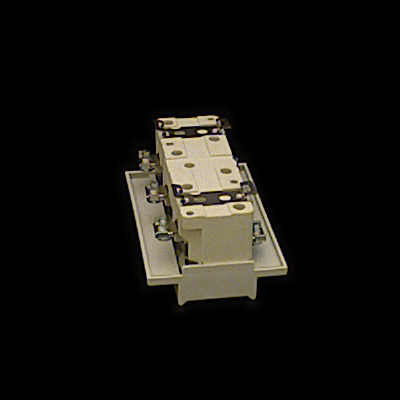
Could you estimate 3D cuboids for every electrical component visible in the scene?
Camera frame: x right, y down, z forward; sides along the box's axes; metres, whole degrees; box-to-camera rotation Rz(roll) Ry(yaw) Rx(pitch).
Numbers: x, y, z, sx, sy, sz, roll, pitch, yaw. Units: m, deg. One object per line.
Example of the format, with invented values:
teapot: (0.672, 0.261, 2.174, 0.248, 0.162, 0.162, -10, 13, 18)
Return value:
electrical component: (0.000, 0.000, 0.642, 0.079, 0.064, 0.119, -4, 33, -9)
